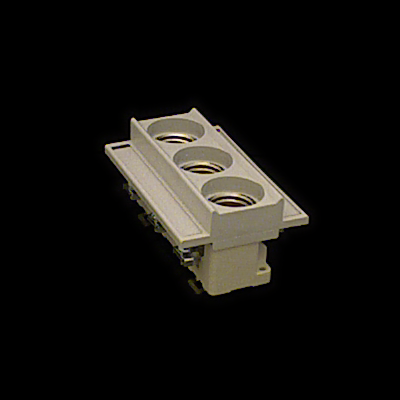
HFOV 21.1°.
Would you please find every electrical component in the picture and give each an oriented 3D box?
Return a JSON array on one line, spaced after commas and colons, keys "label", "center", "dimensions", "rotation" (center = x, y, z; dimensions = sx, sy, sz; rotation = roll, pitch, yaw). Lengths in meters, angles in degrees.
[{"label": "electrical component", "center": [0.000, 0.000, 0.648], "dimensions": [0.079, 0.064, 0.119], "rotation": [-12, 34, -21]}]
